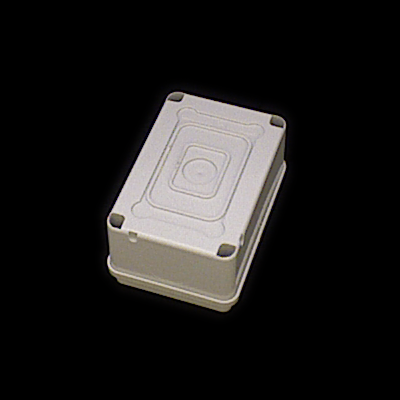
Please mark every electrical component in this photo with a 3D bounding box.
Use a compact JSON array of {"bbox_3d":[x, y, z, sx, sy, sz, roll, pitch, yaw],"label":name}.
[{"bbox_3d":[0.000,0.000,0.629,0.078,0.113,0.057,15,-37,11],"label":"electrical component"}]
